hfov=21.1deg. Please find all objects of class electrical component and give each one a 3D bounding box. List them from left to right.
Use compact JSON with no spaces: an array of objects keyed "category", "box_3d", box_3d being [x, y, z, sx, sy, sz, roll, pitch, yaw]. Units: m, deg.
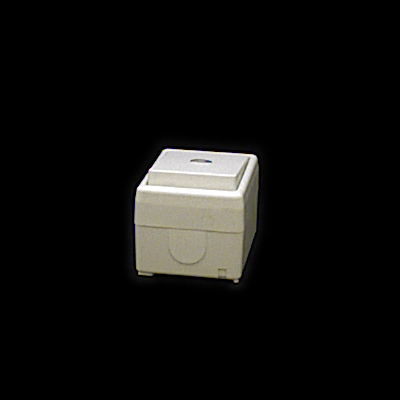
[{"category":"electrical component","box_3d":[0.000,0.000,0.641,0.061,0.061,0.095,4,21,8]}]
